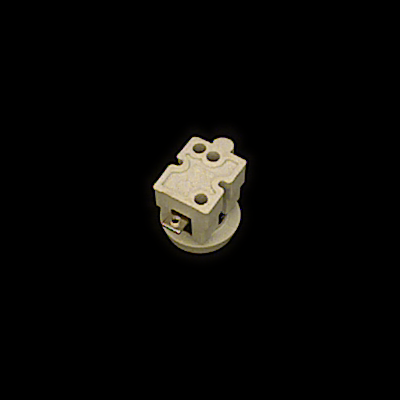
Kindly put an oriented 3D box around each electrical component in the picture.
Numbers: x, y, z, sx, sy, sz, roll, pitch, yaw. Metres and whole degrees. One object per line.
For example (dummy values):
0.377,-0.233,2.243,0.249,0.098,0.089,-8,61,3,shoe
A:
0.000,0.000,0.639,0.048,0.066,0.056,27,-32,17,electrical component
